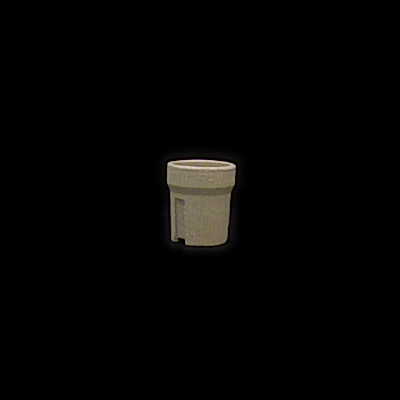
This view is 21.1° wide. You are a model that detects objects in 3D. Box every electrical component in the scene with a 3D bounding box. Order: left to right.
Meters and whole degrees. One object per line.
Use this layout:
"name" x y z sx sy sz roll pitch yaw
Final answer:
"electrical component" 0.000 0.000 0.646 0.040 0.046 0.040 1 11 0
